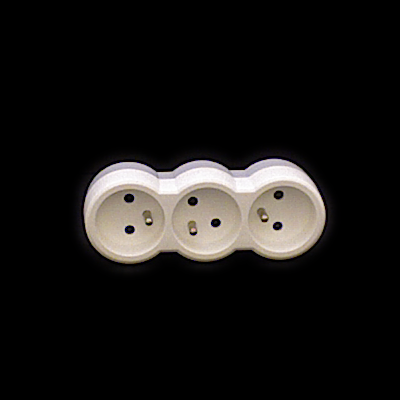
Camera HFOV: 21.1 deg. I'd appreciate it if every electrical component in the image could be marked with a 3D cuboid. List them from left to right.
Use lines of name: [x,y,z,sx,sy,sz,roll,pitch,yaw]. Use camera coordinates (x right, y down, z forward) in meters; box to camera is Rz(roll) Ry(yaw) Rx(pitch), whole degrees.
electrical component: [0.000,0.000,0.640,0.138,0.053,0.073,-2,19,-5]
